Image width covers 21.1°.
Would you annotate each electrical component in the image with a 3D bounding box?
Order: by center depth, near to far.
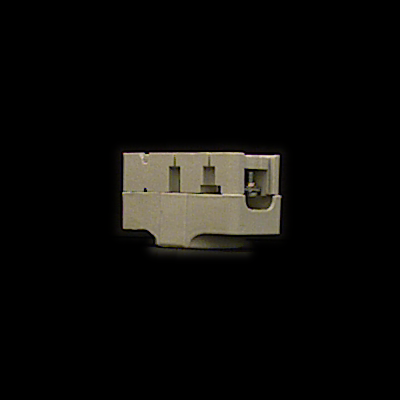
[{"bbox_3d":[0.000,0.000,0.656,0.089,0.056,0.050,1,2,39],"label":"electrical component"}]
